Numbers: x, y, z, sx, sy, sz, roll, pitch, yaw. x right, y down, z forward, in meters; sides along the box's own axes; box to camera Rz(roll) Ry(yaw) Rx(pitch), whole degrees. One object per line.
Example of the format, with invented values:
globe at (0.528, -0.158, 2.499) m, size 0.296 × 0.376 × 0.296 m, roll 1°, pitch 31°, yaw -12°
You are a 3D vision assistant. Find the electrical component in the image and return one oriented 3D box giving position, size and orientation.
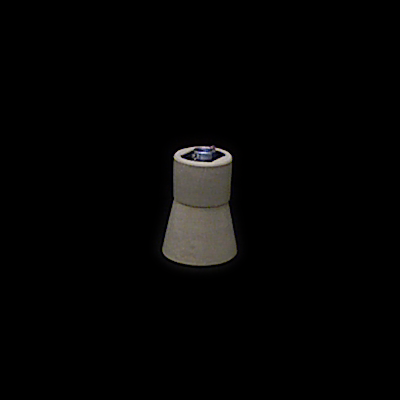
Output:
electrical component at (0.000, 0.000, 0.636) m, size 0.044 × 0.066 × 0.044 m, roll 2°, pitch 22°, yaw -1°
